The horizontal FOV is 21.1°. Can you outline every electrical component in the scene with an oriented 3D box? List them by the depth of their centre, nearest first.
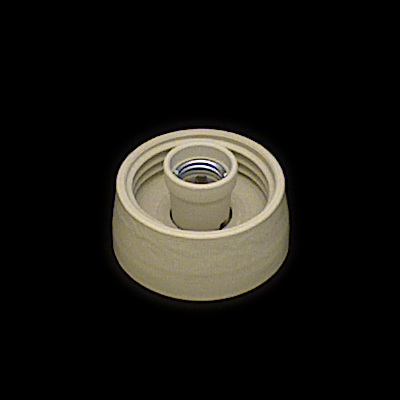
[{"bbox_3d":[0.000,0.000,0.637,0.108,0.061,0.107,1,43,0],"label":"electrical component"}]
